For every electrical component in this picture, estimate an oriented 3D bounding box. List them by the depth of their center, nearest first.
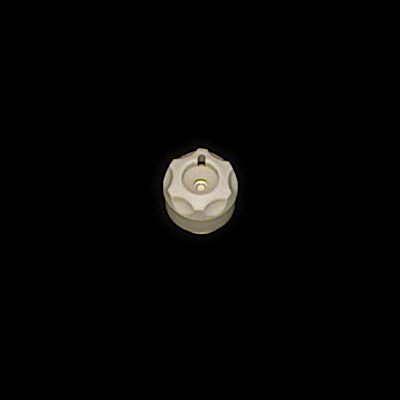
[{"bbox_3d":[0.000,0.000,0.633,0.043,0.043,0.062,0,-26,0],"label":"electrical component"}]
